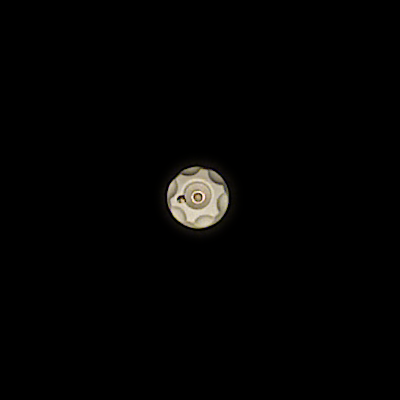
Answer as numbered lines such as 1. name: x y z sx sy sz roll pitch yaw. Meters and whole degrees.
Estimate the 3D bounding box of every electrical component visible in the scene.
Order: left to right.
1. electrical component: 0.000 0.000 0.635 0.035 0.035 0.061 0 -5 1
